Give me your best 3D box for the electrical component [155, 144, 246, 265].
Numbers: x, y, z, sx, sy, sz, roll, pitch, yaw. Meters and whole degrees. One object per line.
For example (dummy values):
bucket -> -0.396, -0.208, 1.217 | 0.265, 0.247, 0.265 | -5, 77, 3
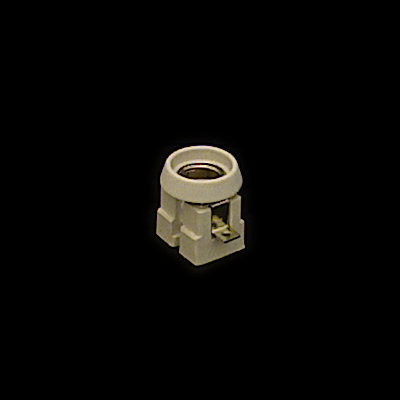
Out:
electrical component -> 0.000, 0.000, 0.643 | 0.048, 0.056, 0.065 | -23, 39, -30
